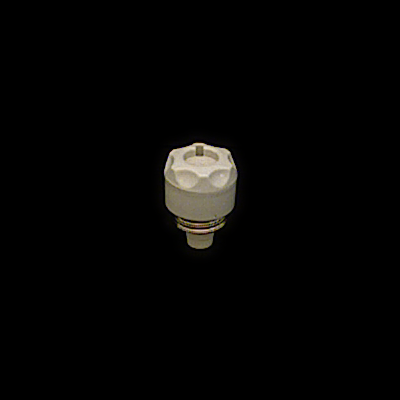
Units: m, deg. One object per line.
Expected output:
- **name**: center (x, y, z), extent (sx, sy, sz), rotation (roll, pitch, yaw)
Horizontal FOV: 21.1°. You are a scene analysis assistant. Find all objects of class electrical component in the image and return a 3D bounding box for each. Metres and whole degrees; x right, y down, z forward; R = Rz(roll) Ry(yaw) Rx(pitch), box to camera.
- **electrical component**: center (0.000, 0.000, 0.641), extent (0.043, 0.063, 0.043), rotation (1, 33, 0)
